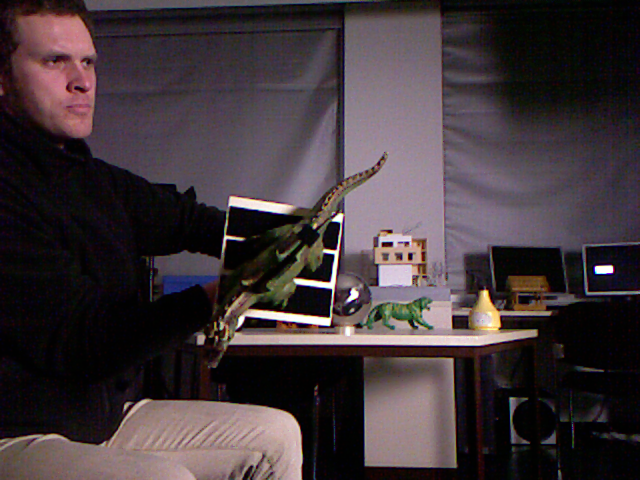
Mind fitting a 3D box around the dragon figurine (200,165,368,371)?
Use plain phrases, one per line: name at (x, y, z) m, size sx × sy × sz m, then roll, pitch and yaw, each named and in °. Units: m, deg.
dragon figurine at (-0.041, 0.015, 0.774) m, size 0.122 × 0.415 × 0.243 m, roll 40°, pitch -8°, yaw -7°
